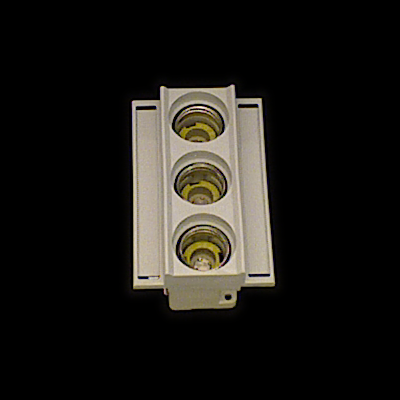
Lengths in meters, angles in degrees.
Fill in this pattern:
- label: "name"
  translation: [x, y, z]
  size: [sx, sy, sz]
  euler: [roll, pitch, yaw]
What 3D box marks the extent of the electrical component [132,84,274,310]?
- label: "electrical component"
  translation: [0.000, 0.000, 0.638]
  size: [0.079, 0.121, 0.063]
  euler: [-1, -27, -2]
